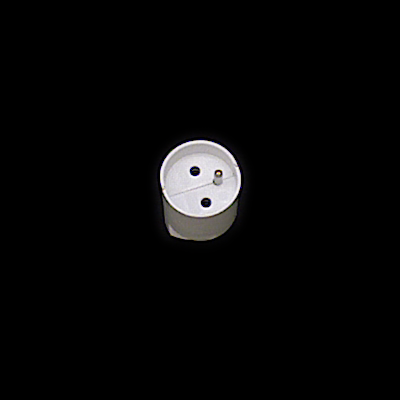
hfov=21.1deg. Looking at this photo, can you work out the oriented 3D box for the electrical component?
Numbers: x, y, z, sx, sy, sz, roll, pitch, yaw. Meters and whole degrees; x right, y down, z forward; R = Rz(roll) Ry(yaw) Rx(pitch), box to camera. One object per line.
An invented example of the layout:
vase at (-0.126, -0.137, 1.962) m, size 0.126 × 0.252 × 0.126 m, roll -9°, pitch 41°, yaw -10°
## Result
electrical component at (0.000, 0.000, 0.616) m, size 0.043 × 0.043 × 0.080 m, roll 0°, pitch -16°, yaw -1°
